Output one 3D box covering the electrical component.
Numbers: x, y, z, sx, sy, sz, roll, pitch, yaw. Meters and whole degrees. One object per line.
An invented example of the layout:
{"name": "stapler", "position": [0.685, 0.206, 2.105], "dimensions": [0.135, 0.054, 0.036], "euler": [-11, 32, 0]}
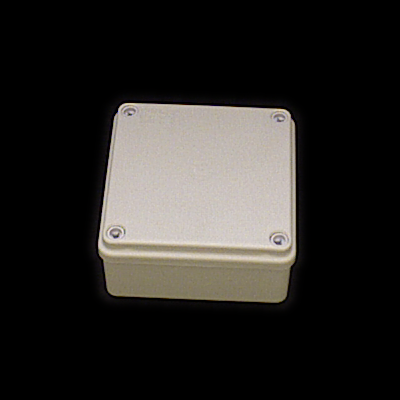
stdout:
{"name": "electrical component", "position": [0.000, 0.000, 0.629], "dimensions": [0.109, 0.108, 0.056], "euler": [2, -37, 1]}
